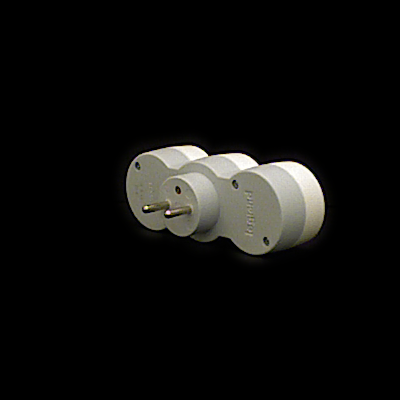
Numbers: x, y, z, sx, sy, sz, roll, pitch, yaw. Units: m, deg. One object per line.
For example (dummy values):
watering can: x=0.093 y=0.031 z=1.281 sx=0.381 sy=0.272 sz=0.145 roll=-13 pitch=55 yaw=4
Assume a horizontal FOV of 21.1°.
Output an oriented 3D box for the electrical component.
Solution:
electrical component: x=0.000 y=0.000 z=0.651 sx=0.074 sy=0.052 sz=0.136 roll=-12 pitch=17 yaw=-44
